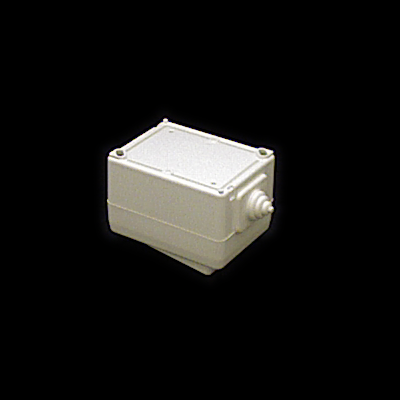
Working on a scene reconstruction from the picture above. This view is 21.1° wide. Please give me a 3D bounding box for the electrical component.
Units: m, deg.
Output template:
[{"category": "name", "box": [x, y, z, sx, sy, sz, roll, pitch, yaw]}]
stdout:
[{"category": "electrical component", "box": [0.000, 0.000, 0.632, 0.096, 0.061, 0.061, 19, 35, 27]}]
